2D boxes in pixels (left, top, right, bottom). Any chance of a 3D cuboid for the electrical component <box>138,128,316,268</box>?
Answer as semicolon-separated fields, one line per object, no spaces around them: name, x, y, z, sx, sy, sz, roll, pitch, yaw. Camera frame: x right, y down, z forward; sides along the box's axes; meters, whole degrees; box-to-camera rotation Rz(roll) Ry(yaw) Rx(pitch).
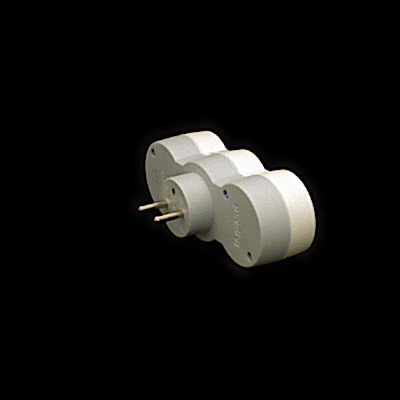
electrical component;0.000;0.000;0.647;0.074;0.053;0.135;-13;26;-29
